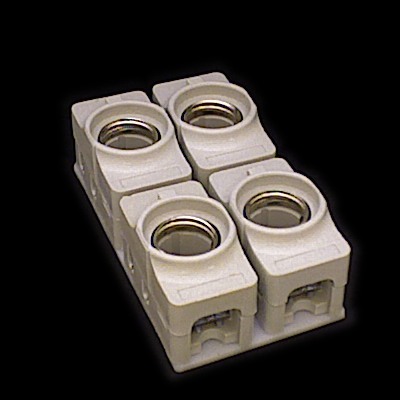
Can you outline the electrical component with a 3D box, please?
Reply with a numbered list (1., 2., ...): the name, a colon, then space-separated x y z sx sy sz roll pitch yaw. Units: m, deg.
1. electrical component: 0.000 0.000 0.630 0.106 0.061 0.184 -15 44 -17
